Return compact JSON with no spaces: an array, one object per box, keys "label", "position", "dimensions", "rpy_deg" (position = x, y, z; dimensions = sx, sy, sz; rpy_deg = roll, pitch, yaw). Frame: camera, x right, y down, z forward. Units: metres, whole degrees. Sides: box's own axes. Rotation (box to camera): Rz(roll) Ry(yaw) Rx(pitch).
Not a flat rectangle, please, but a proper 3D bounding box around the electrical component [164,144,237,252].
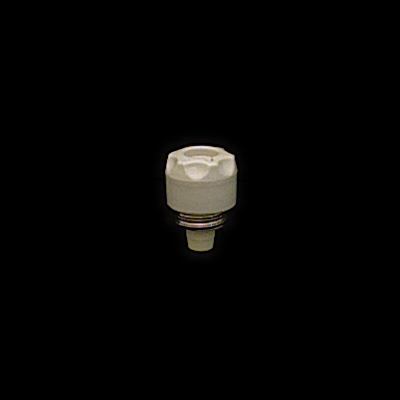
[{"label":"electrical component","position":[0.000,0.000,0.646],"dimensions":[0.043,0.063,0.043],"rpy_deg":[0,22,0]}]
